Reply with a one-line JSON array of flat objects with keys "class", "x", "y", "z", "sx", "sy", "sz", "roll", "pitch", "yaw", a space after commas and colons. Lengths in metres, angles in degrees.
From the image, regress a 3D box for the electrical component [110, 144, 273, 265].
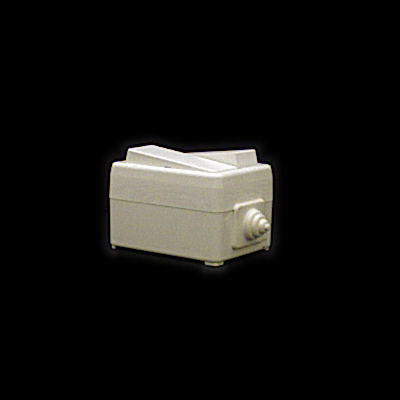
[{"class": "electrical component", "x": 0.000, "y": 0.000, "z": 0.643, "sx": 0.096, "sy": 0.061, "sz": 0.061, "roll": 8, "pitch": 13, "yaw": 34}]
